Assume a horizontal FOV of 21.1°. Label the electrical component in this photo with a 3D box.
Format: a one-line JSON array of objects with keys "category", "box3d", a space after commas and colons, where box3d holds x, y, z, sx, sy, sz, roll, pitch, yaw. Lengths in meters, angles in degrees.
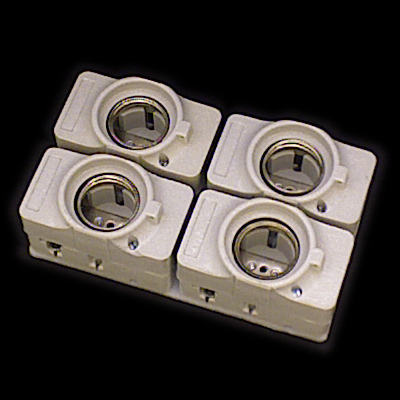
[{"category": "electrical component", "box3d": [0.000, 0.000, 0.626, 0.186, 0.106, 0.060, 16, -26, 8]}]
